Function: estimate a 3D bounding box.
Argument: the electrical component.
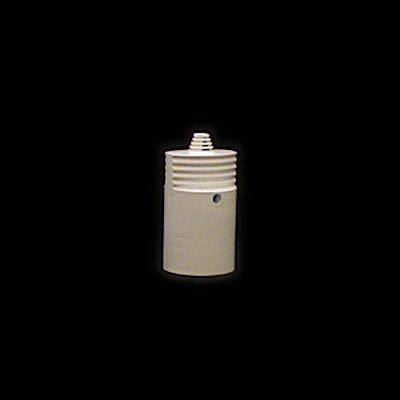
[{"bbox_3d":[0.000,0.000,0.642,0.043,0.081,0.043,1,11,0],"label":"electrical component"}]
